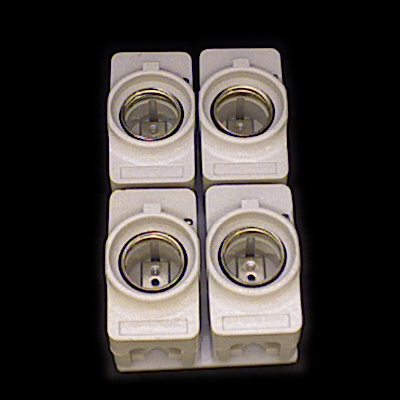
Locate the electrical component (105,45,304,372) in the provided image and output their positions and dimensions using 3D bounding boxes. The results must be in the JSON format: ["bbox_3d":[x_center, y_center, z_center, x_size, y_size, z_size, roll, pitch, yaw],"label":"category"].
[{"bbox_3d":[0.000,0.000,0.626,0.105,0.186,0.060,-2,-27,-1],"label":"electrical component"}]
